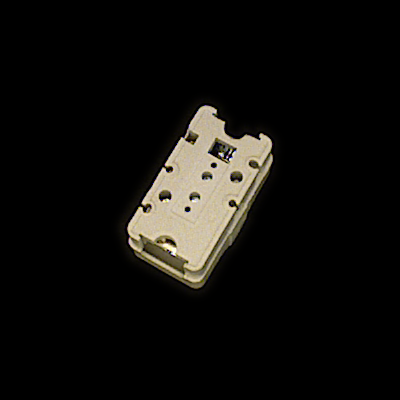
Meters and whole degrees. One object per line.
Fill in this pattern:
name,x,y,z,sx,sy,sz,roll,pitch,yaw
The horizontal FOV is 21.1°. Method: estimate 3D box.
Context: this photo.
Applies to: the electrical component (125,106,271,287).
electrical component,0.000,0.000,0.636,0.050,0.090,0.055,29,-15,9
